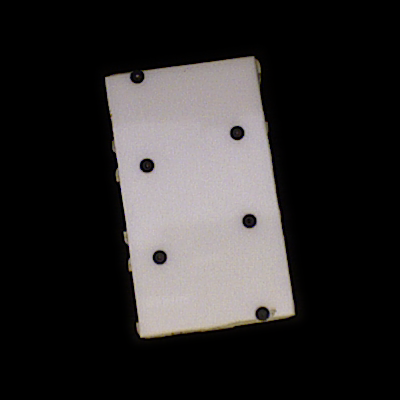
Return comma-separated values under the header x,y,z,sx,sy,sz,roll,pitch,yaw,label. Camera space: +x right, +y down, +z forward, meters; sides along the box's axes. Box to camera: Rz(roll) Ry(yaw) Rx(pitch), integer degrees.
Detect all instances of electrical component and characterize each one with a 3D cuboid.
x,y,z,sx,sy,sz,roll,pitch,yaw,label
0.000,0.000,0.631,0.089,0.150,0.061,-8,-6,-1,electrical component
